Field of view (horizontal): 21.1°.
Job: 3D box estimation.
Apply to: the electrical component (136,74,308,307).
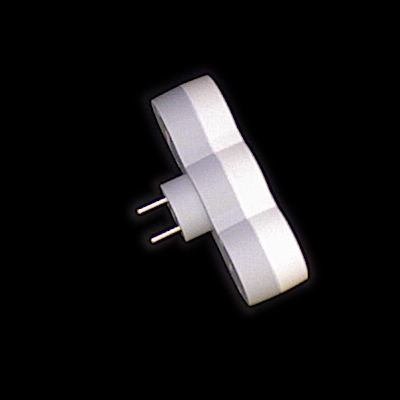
[{"bbox_3d":[0.000,0.000,0.630,0.074,0.138,0.052,-25,-15,-5],"label":"electrical component"}]
